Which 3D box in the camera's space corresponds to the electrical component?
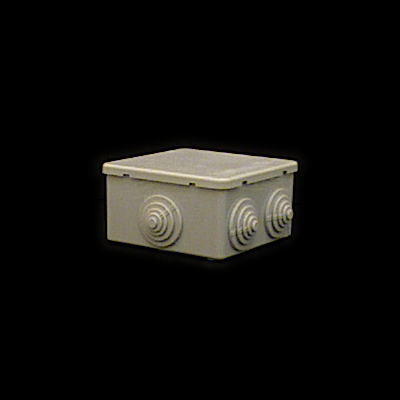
[{"bbox_3d":[0.000,0.000,0.651,0.098,0.049,0.100,8,13,32],"label":"electrical component"}]
